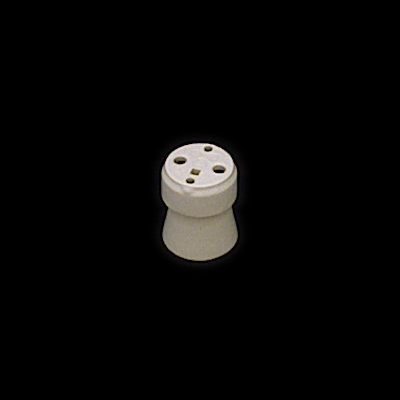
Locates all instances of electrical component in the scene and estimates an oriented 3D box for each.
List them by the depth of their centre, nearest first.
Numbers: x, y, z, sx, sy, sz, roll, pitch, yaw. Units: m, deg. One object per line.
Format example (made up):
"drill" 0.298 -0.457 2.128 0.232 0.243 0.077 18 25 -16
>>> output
"electrical component" 0.000 0.000 0.633 0.045 0.055 0.044 0 42 0
